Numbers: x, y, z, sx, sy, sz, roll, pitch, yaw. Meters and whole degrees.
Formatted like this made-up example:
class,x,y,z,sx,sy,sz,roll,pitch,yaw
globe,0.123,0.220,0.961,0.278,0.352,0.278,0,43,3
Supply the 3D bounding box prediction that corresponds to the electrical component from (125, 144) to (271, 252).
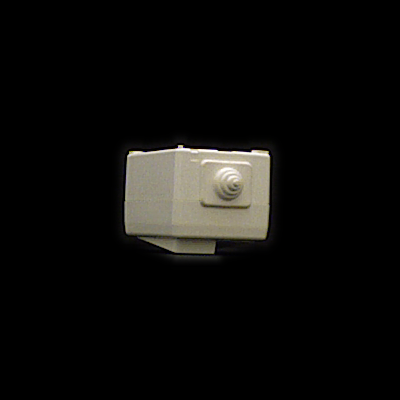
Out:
class,x,y,z,sx,sy,sz,roll,pitch,yaw
electrical component,0.000,0.000,0.643,0.061,0.061,0.096,2,-1,-26
